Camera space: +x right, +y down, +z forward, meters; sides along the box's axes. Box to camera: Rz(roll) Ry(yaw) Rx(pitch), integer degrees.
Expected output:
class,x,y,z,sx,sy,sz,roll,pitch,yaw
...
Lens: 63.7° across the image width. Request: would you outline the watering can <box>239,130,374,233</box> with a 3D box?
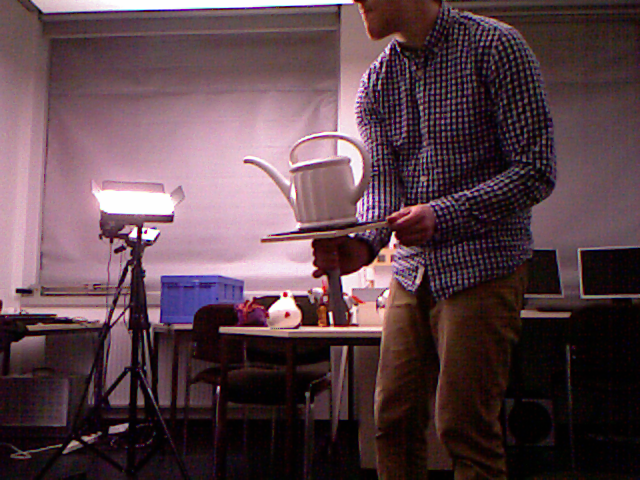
class,x,y,z,sx,sy,sz,roll,pitch,yaw
watering can,-0.030,-0.113,1.102,0.347,0.224,0.105,-3,8,37
